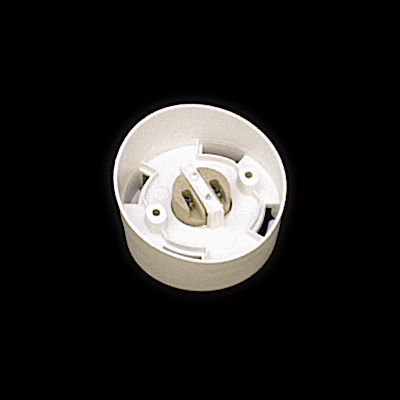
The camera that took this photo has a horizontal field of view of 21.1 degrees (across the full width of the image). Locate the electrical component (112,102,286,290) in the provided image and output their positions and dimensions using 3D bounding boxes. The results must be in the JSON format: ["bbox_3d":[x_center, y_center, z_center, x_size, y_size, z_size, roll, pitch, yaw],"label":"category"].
[{"bbox_3d":[0.000,0.000,0.626,0.099,0.098,0.064,0,-38,0],"label":"electrical component"}]
